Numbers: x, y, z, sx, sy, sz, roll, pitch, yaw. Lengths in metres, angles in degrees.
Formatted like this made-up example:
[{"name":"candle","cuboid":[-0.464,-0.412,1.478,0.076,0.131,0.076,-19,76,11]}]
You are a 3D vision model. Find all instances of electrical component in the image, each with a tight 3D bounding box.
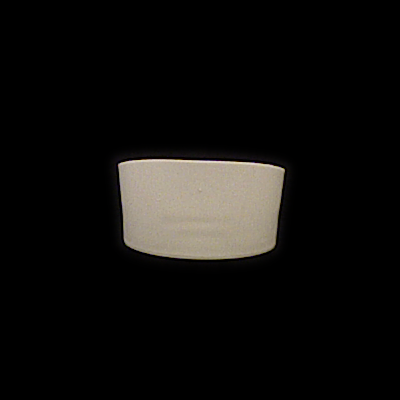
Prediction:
[{"name":"electrical component","cuboid":[0.000,0.000,0.643,0.099,0.064,0.098,2,11,0]}]
